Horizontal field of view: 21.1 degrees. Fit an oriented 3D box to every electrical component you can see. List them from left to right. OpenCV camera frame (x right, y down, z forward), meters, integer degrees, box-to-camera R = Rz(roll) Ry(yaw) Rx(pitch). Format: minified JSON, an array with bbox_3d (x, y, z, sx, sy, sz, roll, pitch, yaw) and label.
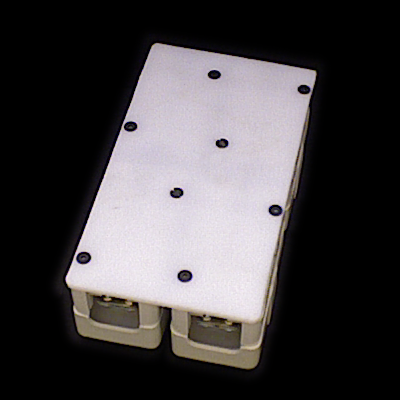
[{"bbox_3d":[0.000,0.000,0.627,0.105,0.185,0.060,10,-37,8],"label":"electrical component"}]
